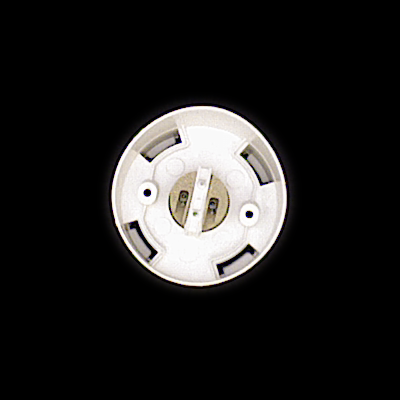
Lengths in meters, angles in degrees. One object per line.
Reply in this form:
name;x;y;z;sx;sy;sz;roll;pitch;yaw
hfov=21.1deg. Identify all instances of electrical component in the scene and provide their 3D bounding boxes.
electrical component;0.000;0.000;0.624;0.099;0.099;0.064;0;-8;0
